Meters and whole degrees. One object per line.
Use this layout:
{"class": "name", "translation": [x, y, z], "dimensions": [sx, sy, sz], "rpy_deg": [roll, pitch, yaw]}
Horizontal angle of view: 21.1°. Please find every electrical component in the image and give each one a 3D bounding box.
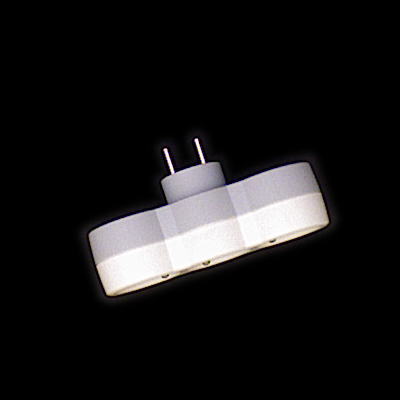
{"class": "electrical component", "translation": [0.000, 0.000, 0.631], "dimensions": [0.138, 0.074, 0.052], "rpy_deg": [-18, -8, -1]}
